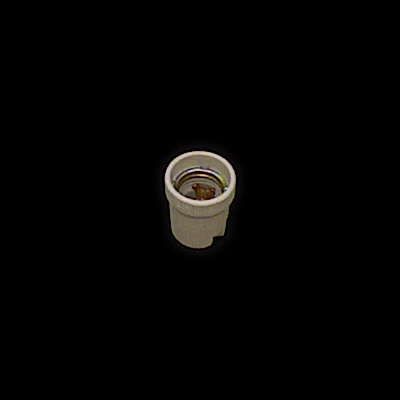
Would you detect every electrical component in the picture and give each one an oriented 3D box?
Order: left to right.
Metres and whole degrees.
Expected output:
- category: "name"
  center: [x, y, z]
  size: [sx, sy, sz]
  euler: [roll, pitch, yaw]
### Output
- category: "electrical component"
  center: [0.000, 0.000, 0.630]
  size: [0.040, 0.040, 0.046]
  euler: [0, -38, -1]
